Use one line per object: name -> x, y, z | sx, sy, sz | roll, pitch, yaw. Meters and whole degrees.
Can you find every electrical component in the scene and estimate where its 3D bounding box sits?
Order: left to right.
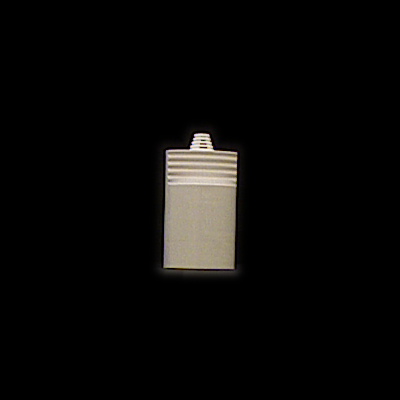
electrical component -> 0.000, 0.000, 0.649 | 0.043, 0.081, 0.043 | 1, 1, 0
